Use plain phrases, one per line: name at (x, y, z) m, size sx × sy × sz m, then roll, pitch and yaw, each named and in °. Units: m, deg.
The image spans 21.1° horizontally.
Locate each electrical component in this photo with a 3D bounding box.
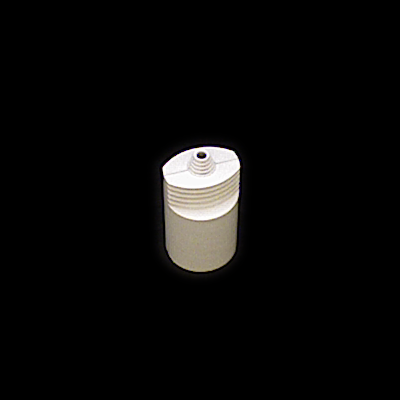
electrical component at (0.000, 0.000, 0.620) m, size 0.043 × 0.043 × 0.081 m, roll 0°, pitch -38°, yaw 0°
